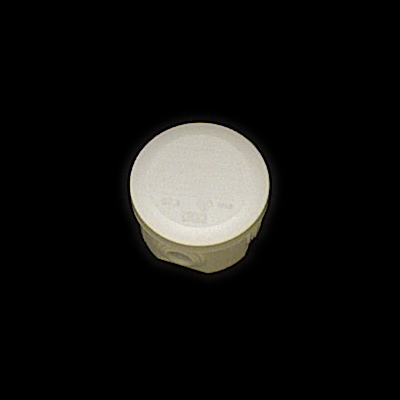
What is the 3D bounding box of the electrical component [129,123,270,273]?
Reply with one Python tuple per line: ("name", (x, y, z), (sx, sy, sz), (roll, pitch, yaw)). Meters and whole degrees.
("electrical component", (0.000, 0.000, 0.630), (0.080, 0.080, 0.050), (0, -27, 0))
